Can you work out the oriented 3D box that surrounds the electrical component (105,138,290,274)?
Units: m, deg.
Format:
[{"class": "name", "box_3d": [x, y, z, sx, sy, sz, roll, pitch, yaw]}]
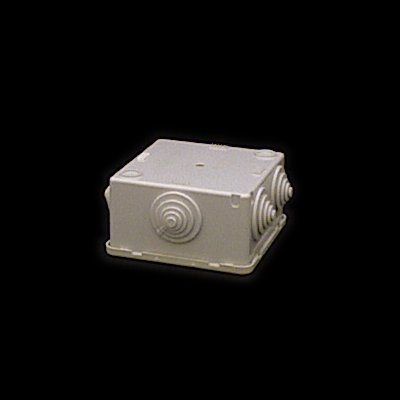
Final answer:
[{"class": "electrical component", "box_3d": [0.000, 0.000, 0.640, 0.099, 0.049, 0.099, 7, 22, 16]}]
